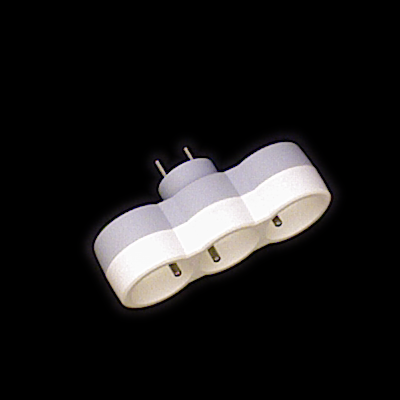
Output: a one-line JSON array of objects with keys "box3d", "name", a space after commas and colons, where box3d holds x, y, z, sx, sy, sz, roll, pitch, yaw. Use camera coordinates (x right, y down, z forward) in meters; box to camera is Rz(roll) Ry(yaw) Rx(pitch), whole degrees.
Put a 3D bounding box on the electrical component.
[{"box3d": [0.000, 0.000, 0.630, 0.138, 0.074, 0.052, -26, -26, -12], "name": "electrical component"}]
